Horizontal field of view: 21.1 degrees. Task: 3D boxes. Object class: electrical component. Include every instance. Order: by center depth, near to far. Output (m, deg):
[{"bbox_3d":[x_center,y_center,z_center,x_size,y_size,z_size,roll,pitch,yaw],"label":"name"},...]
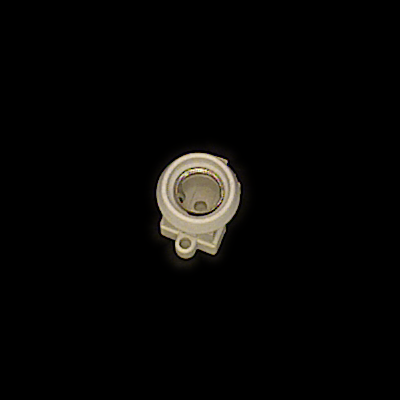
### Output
[{"bbox_3d":[0.000,0.000,0.637,0.048,0.067,0.055,20,-15,4],"label":"electrical component"}]
